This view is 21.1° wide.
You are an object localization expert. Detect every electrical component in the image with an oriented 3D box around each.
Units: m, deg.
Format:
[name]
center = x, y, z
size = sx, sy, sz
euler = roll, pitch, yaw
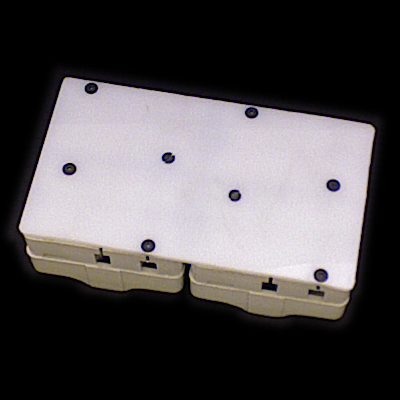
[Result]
[electrical component]
center = 0.000, 0.000, 0.625
size = 0.186, 0.105, 0.060
euler = 9, -27, 5
